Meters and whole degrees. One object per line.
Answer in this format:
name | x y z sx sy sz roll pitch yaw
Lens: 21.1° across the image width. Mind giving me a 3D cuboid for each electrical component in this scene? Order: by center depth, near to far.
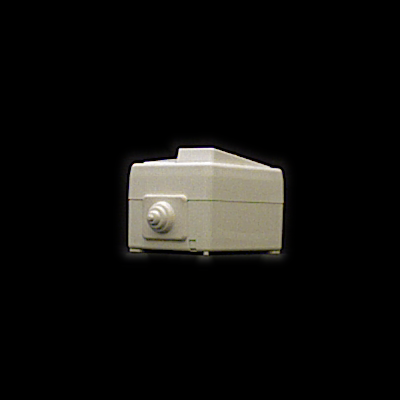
electrical component | 0.000 0.000 0.648 0.061 0.061 0.096 2 0 37
